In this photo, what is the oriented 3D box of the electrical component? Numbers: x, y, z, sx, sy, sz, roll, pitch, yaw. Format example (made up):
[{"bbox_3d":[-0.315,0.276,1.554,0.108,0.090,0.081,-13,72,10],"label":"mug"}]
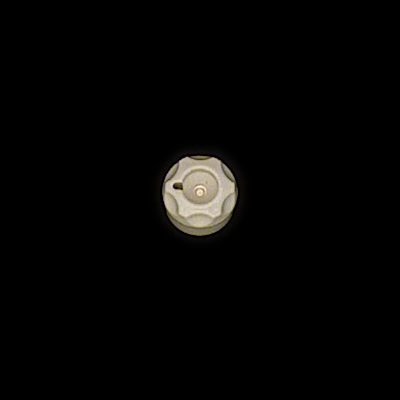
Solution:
[{"bbox_3d":[0.000,0.000,0.634,0.043,0.043,0.061,0,-16,0],"label":"electrical component"}]
